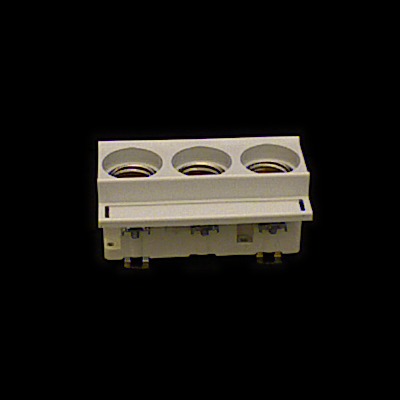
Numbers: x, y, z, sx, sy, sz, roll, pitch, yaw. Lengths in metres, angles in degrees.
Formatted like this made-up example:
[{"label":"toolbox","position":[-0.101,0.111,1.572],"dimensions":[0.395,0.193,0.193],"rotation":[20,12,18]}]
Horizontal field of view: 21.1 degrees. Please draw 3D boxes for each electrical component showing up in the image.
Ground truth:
[{"label":"electrical component","position":[0.000,0.000,0.645],"dimensions":[0.121,0.064,0.077],"rotation":[-1,33,-4]}]
